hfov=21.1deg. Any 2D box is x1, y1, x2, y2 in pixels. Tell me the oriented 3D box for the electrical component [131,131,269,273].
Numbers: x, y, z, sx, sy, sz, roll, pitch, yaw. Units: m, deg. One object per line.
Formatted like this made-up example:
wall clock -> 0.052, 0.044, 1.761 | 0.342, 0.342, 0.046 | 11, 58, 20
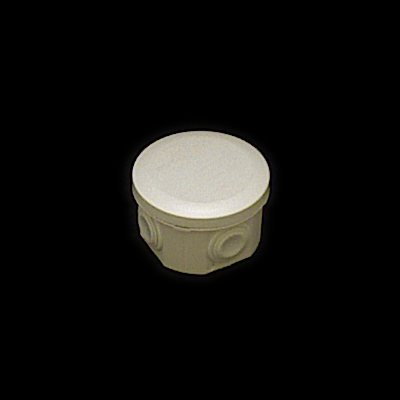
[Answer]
electrical component -> 0.000, 0.000, 0.635 | 0.080, 0.051, 0.079 | 1, 42, 0
